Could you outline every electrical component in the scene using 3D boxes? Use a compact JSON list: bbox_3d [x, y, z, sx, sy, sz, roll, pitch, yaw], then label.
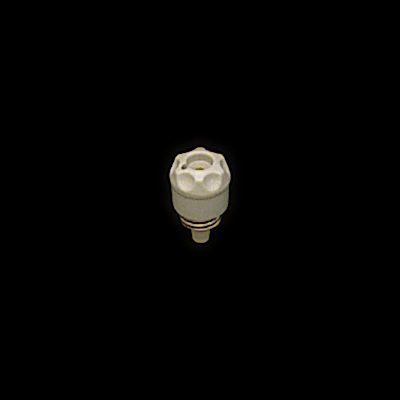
[{"bbox_3d":[0.000,0.000,0.638,0.035,0.062,0.035,0,42,0],"label":"electrical component"}]
